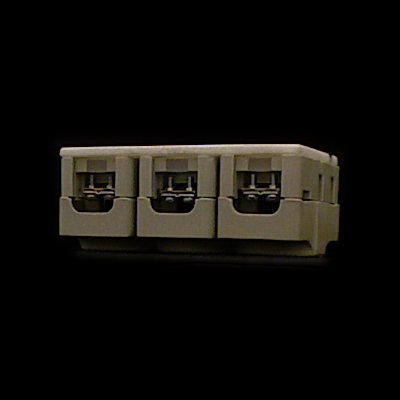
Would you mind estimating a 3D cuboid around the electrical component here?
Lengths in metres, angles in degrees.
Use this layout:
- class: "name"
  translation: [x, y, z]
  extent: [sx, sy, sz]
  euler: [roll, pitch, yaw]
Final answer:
- class: "electrical component"
  translation: [0.000, 0.000, 0.658]
  extent: [0.150, 0.062, 0.089]
  euler: [1, 0, 21]
